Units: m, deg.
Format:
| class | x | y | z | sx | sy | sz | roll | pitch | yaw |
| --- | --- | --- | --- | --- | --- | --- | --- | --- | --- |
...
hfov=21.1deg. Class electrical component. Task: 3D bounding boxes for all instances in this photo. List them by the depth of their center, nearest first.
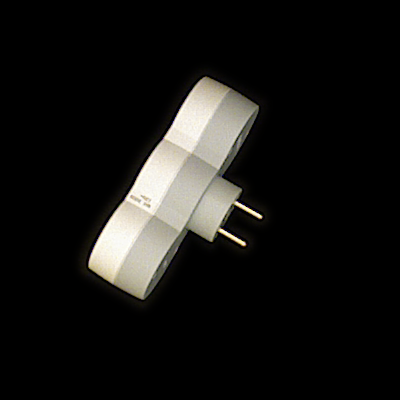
| class | x | y | z | sx | sy | sz | roll | pitch | yaw |
| --- | --- | --- | --- | --- | --- | --- | --- | --- | --- |
| electrical component | 0.000 | 0.000 | 0.637 | 0.073 | 0.139 | 0.052 | 30 | -14 | 7 |
